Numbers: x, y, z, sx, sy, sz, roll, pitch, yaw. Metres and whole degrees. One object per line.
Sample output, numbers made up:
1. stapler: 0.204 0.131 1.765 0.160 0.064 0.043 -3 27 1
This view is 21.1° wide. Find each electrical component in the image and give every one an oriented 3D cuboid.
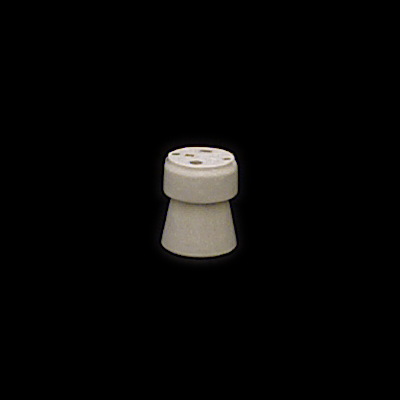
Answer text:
1. electrical component: 0.000 0.000 0.641 0.045 0.056 0.044 2 21 0
